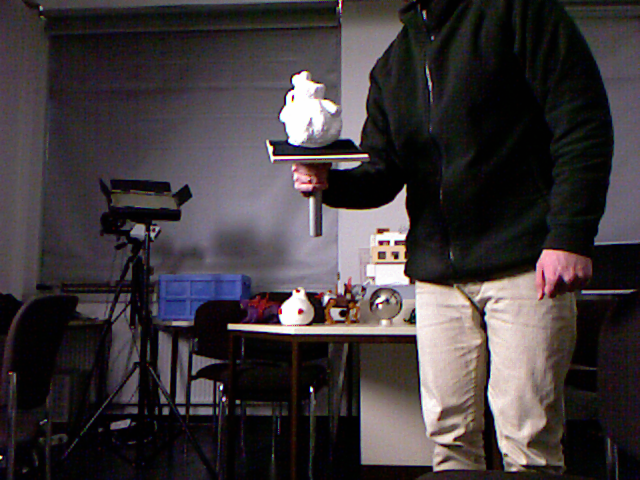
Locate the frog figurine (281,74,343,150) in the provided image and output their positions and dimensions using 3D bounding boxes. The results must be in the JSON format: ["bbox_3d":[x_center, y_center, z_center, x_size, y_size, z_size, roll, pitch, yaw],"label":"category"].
[{"bbox_3d":[-0.017,-0.284,1.144,0.138,0.157,0.125,4,26,10],"label":"frog figurine"}]
